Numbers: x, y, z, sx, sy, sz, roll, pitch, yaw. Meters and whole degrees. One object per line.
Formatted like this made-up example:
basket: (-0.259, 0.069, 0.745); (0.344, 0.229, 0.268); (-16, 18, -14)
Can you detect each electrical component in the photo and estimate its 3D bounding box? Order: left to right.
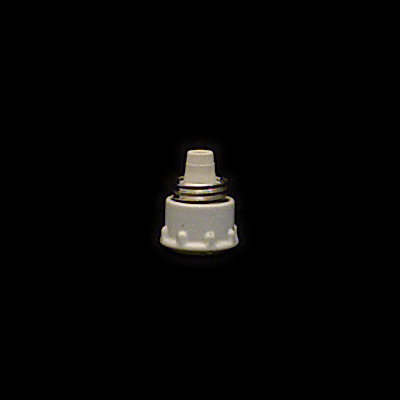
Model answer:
electrical component: (0.000, 0.000, 0.649); (0.048, 0.062, 0.048); (1, 13, 0)
